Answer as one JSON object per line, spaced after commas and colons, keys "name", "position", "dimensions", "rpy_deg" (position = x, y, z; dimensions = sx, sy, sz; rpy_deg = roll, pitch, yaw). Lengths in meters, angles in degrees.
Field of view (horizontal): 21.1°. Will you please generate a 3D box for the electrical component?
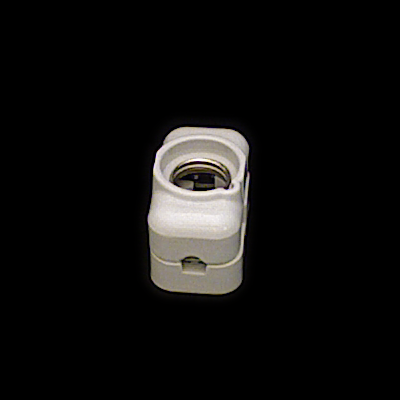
{"name": "electrical component", "position": [0.000, 0.000, 0.638], "dimensions": [0.053, 0.060, 0.094], "rpy_deg": [3, 43, 4]}
